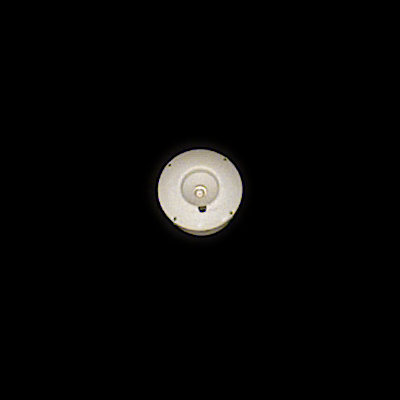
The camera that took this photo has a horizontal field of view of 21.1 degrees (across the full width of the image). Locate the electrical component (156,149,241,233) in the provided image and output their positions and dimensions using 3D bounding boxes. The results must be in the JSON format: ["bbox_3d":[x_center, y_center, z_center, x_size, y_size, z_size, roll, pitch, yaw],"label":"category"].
[{"bbox_3d":[0.000,0.000,0.633,0.048,0.048,0.061,0,-16,1],"label":"electrical component"}]
